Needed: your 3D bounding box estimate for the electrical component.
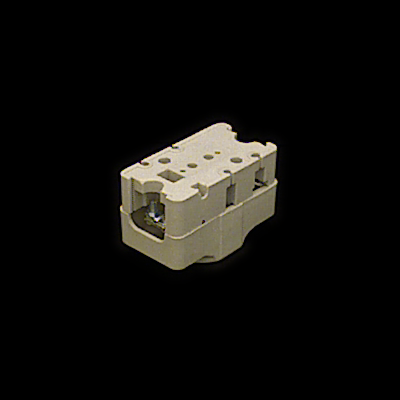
[{"bbox_3d":[0.000,0.000,0.642,0.049,0.056,0.090,27,41,34],"label":"electrical component"}]
